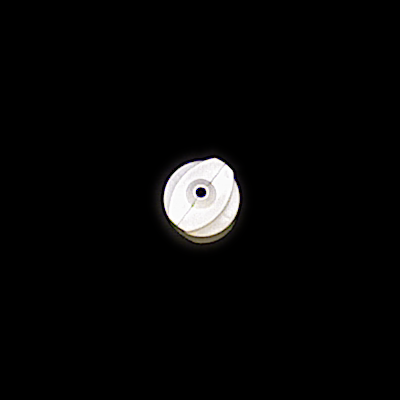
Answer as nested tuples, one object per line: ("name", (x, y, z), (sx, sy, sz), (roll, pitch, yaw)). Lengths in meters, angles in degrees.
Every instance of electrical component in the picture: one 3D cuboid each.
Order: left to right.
("electrical component", (0.000, 0.000, 0.616), (0.043, 0.043, 0.080), (0, -6, 1))
